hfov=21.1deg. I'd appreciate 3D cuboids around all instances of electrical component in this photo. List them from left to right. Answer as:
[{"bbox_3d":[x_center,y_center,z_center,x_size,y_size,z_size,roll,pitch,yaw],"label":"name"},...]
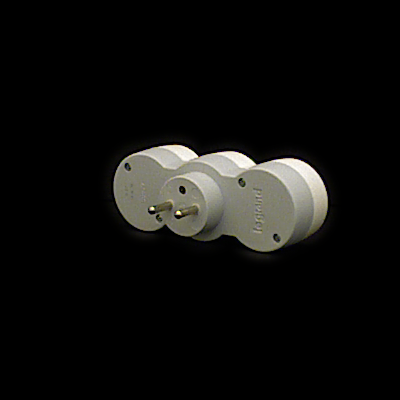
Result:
[{"bbox_3d":[0.000,0.000,0.650,0.136,0.052,0.074,9,15,34],"label":"electrical component"}]
